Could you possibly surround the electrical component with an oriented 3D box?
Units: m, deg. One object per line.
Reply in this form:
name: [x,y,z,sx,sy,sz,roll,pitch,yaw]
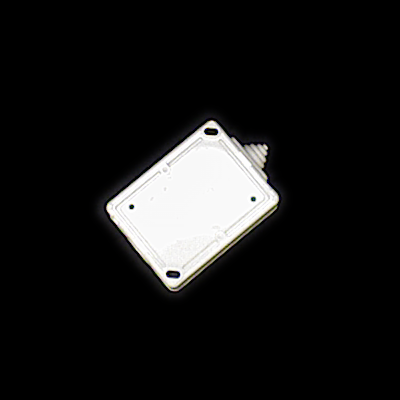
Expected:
electrical component: [0.000,0.000,0.627,0.096,0.062,0.061,-40,-6,-4]
